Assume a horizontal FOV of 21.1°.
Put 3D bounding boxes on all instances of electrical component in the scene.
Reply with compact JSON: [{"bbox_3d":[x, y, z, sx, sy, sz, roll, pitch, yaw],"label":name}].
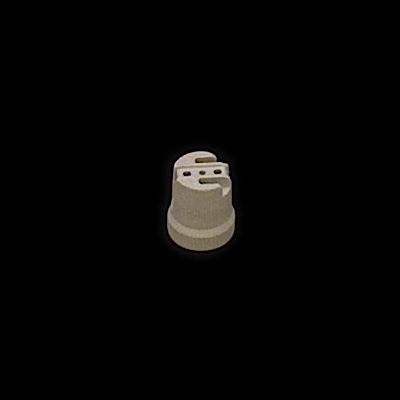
[{"bbox_3d":[0.000,0.000,0.635,0.040,0.046,0.040,0,43,0],"label":"electrical component"}]
